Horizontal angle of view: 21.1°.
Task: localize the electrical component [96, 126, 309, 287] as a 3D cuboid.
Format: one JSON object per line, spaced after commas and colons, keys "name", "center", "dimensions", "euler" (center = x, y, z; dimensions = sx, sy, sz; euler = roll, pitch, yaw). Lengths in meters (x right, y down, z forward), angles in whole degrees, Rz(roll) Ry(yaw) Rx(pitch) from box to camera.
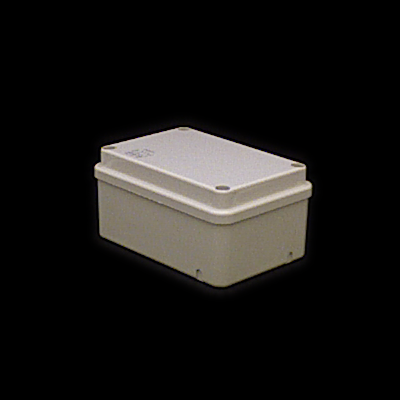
{"name": "electrical component", "center": [0.000, 0.000, 0.637], "dimensions": [0.078, 0.058, 0.112], "euler": [-18, 28, -41]}
